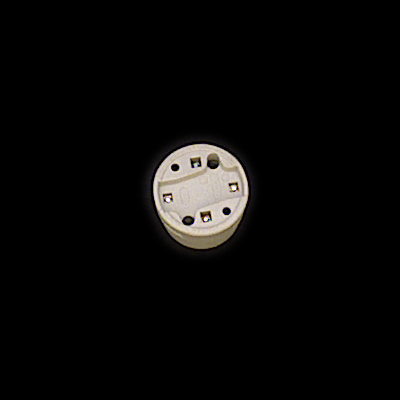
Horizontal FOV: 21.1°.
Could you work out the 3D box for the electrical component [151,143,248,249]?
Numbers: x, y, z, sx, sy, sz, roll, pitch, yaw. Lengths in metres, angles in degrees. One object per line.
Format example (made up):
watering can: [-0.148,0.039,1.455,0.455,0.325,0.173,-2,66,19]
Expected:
electrical component: [0.000,0.000,0.635,0.055,0.056,0.047,0,-17,0]
